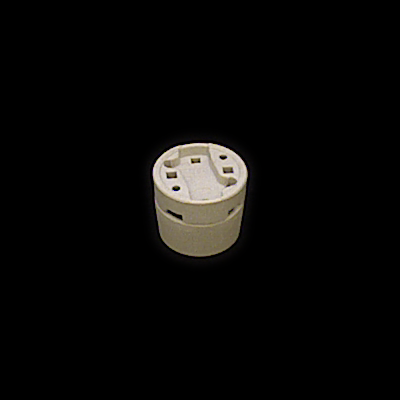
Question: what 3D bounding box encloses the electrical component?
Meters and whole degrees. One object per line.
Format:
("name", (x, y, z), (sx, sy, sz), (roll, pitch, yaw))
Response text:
("electrical component", (0.000, 0.000, 0.636), (0.055, 0.047, 0.055), (1, 42, 0))
